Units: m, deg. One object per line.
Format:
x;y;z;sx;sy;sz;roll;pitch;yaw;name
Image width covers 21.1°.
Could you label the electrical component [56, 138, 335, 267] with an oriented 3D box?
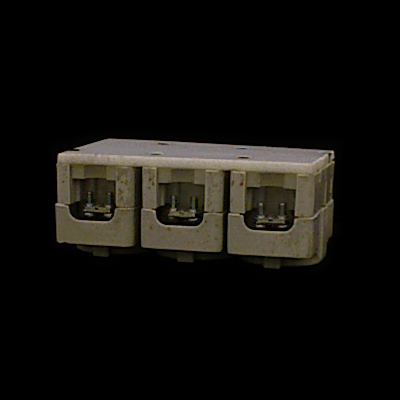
0.000;0.000;0.649;0.150;0.062;0.089;3;10;14;electrical component
